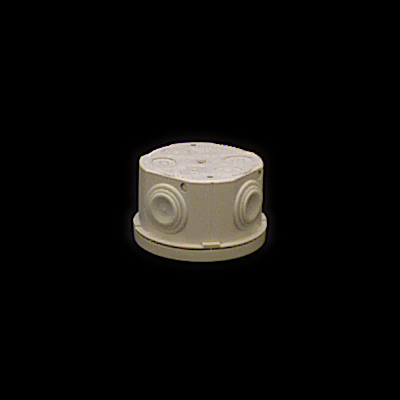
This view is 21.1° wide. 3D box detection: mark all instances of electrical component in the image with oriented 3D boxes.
[{"bbox_3d":[0.000,0.000,0.640,0.080,0.051,0.079,1,22,0],"label":"electrical component"}]
